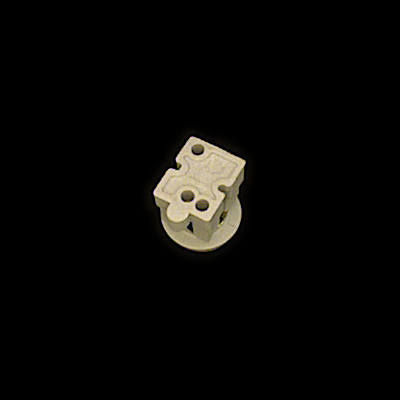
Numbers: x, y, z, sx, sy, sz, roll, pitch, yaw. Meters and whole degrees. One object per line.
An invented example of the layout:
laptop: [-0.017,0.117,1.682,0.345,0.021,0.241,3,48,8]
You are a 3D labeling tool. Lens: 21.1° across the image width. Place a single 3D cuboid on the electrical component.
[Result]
electrical component: [0.000,0.000,0.637,0.048,0.067,0.055,26,-24,14]
